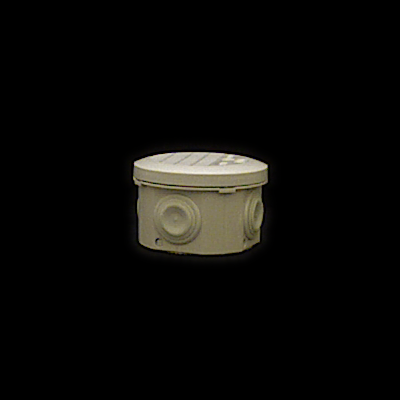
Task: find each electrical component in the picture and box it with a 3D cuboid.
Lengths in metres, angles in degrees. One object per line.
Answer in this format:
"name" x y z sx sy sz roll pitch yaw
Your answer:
"electrical component" 0.000 0.000 0.642 0.080 0.051 0.079 1 10 0
